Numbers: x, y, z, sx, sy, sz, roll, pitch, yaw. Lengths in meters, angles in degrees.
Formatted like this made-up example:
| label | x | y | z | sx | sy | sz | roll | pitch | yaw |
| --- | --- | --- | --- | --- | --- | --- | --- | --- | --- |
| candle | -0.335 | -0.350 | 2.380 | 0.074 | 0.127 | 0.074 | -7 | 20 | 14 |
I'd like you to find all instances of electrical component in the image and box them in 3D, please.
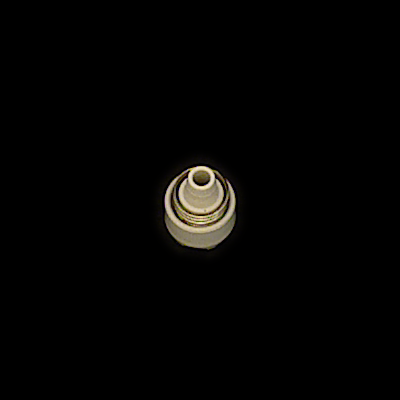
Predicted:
| label | x | y | z | sx | sy | sz | roll | pitch | yaw |
| --- | --- | --- | --- | --- | --- | --- | --- | --- | --- |
| electrical component | 0.000 | 0.000 | 0.634 | 0.043 | 0.043 | 0.062 | 0 | -26 | -1 |
